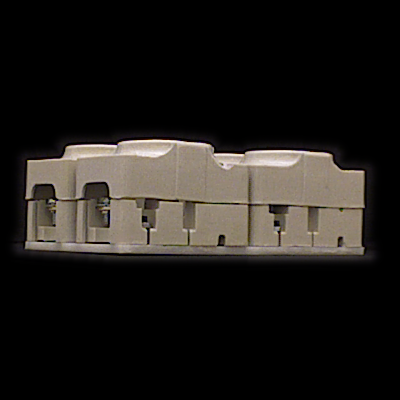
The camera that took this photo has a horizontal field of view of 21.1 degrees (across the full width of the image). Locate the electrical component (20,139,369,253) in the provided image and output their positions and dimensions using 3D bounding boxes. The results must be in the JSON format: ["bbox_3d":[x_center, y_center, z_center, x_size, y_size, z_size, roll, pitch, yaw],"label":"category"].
[{"bbox_3d":[0.000,0.000,0.651,0.187,0.060,0.105,2,-1,-38],"label":"electrical component"}]
